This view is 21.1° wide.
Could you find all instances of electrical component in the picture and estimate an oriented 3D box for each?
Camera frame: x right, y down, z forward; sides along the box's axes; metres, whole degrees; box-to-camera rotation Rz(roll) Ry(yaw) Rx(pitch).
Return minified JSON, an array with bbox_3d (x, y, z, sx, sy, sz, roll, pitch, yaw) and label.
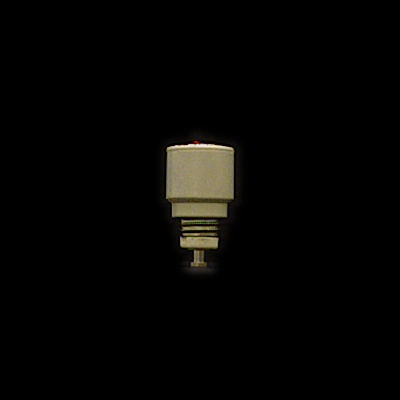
[{"bbox_3d":[0.000,0.000,0.652,0.040,0.078,0.040,1,1,0],"label":"electrical component"}]
